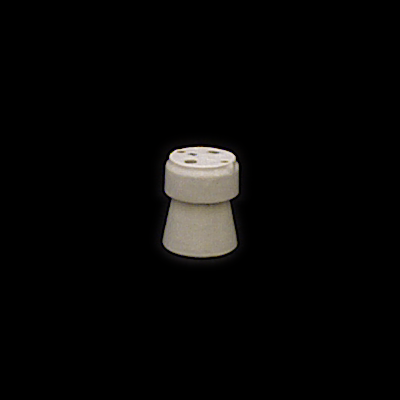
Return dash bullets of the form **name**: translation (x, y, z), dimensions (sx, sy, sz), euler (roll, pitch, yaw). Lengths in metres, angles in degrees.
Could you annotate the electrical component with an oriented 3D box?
- **electrical component**: translation (0.000, 0.000, 0.641), dimensions (0.045, 0.056, 0.044), euler (2, 21, 0)
